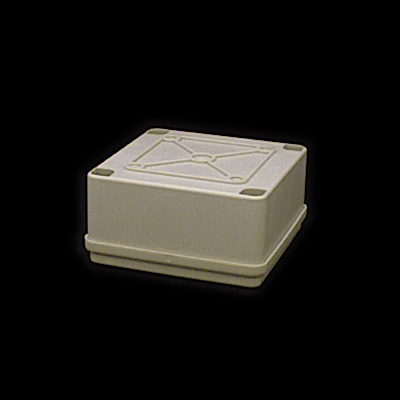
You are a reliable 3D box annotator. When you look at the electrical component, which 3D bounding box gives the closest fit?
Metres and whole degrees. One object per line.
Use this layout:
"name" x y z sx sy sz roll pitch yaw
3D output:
"electrical component" 0.000 0.000 0.642 0.108 0.057 0.107 8 22 17
